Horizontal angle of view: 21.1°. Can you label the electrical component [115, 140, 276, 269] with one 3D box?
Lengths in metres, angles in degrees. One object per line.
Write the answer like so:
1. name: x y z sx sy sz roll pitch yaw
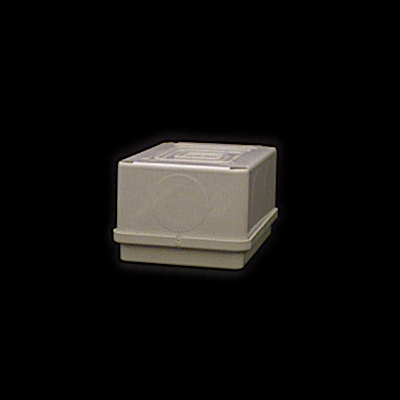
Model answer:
1. electrical component: 0.000 0.000 0.644 0.078 0.057 0.112 4 11 12
